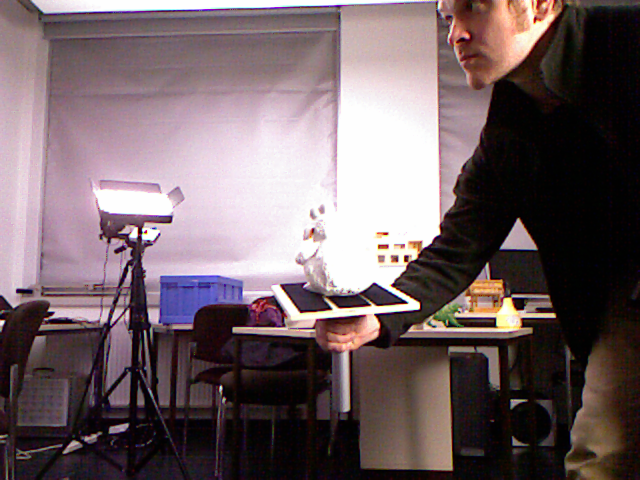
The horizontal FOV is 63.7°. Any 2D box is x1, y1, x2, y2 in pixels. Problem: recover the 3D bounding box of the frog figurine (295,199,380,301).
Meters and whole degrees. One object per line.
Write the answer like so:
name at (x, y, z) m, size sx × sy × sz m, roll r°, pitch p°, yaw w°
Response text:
frog figurine at (0.028, 0.013, 0.849) m, size 0.137 × 0.158 × 0.124 m, roll -2°, pitch 12°, yaw 9°
